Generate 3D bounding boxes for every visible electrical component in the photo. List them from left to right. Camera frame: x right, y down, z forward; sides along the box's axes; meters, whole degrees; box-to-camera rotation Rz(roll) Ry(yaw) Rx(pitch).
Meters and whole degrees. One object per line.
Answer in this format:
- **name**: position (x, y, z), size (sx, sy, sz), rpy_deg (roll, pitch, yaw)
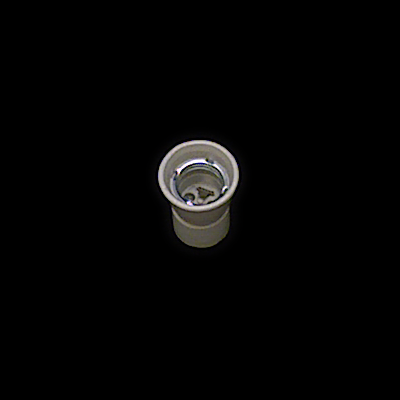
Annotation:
- **electrical component**: position (0.000, 0.000, 0.625), size (0.044, 0.044, 0.065), rpy_deg (0, -27, 1)
